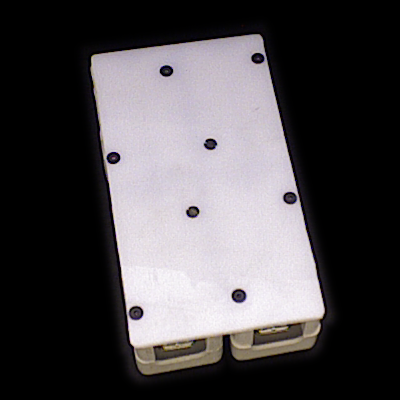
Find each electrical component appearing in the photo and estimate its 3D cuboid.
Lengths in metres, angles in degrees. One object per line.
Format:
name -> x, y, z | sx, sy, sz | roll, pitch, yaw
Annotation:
electrical component -> 0.000, 0.000, 0.625 | 0.105, 0.186, 0.060 | -8, -27, -4
